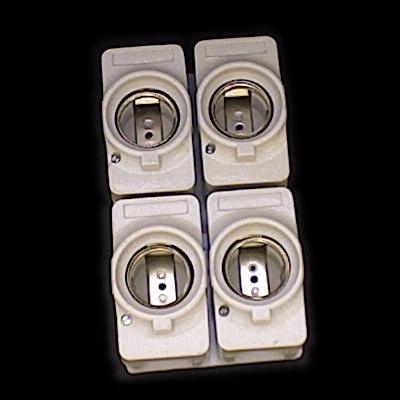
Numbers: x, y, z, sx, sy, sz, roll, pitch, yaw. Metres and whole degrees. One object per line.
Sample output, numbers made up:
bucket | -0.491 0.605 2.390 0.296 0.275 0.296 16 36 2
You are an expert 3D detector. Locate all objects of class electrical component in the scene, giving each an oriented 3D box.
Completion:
electrical component | 0.000 0.000 0.625 0.105 0.187 0.060 -5 -17 -1
